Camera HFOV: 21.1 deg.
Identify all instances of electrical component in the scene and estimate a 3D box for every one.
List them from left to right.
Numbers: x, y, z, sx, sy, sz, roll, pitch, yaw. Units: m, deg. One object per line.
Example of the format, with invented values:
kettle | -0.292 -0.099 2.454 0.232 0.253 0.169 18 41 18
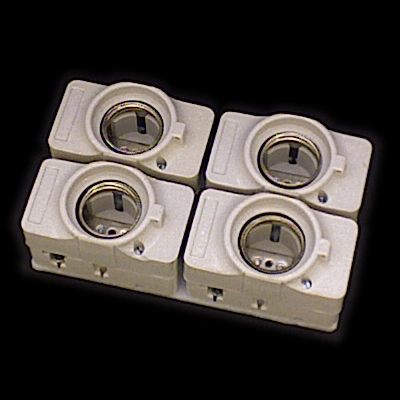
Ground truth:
electrical component | 0.000 0.000 0.626 0.186 0.105 0.060 12 -27 5
